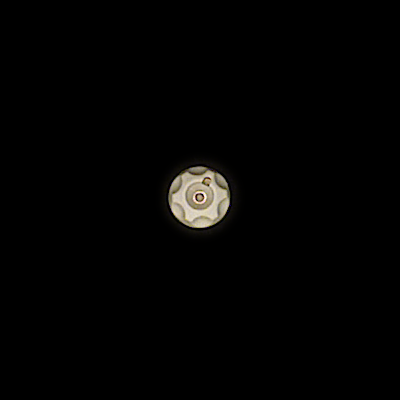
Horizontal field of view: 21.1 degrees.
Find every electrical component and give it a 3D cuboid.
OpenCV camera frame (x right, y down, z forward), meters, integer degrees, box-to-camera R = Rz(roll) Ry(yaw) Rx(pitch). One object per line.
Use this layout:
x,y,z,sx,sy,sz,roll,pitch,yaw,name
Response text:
0.000,0.000,0.635,0.035,0.035,0.061,0,-5,0,electrical component
